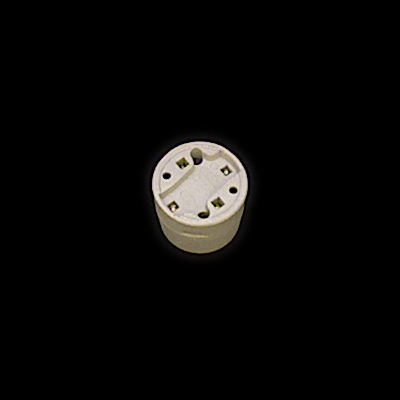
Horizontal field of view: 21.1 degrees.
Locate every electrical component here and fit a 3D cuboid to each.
[{"bbox_3d":[0.000,0.000,0.635,0.055,0.056,0.047,0,-27,0],"label":"electrical component"}]
